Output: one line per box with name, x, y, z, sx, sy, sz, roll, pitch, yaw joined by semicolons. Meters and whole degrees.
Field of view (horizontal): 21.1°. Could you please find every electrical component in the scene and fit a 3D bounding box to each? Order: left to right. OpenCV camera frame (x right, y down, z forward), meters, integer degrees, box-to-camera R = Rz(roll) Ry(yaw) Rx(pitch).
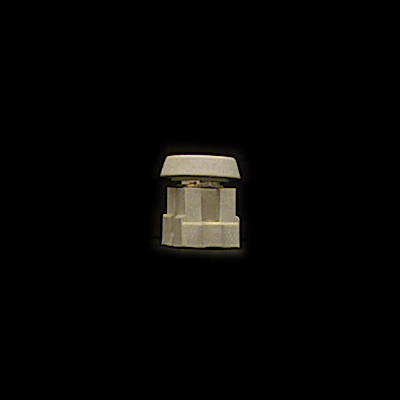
electrical component;0.000;0.000;0.657;0.049;0.055;0.066;3;1;-20
